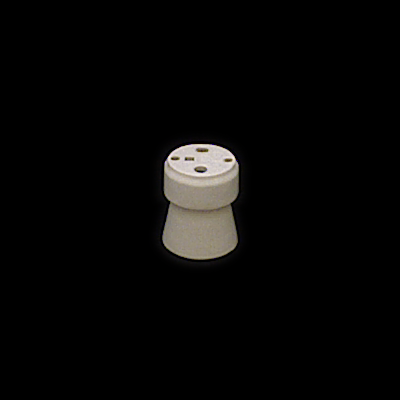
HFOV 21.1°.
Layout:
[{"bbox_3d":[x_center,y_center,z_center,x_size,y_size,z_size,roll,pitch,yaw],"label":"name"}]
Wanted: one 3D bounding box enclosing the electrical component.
[{"bbox_3d":[0.000,0.000,0.637,0.045,0.056,0.044,1,32,0],"label":"electrical component"}]
